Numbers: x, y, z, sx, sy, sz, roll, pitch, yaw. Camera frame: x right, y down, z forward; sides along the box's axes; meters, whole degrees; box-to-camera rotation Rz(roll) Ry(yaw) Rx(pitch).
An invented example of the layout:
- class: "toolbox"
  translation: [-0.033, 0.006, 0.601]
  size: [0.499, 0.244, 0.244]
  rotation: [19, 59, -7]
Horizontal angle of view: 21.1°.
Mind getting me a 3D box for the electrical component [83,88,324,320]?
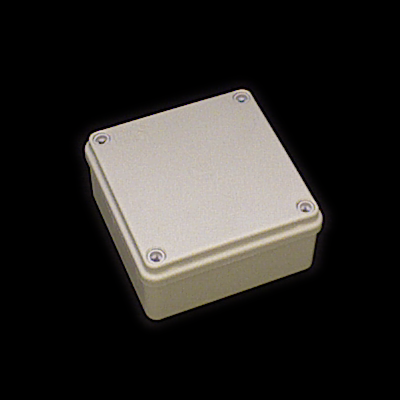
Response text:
- class: "electrical component"
  translation: [0.000, 0.000, 0.630]
  size: [0.109, 0.108, 0.056]
  rotation: [-18, -35, -14]
